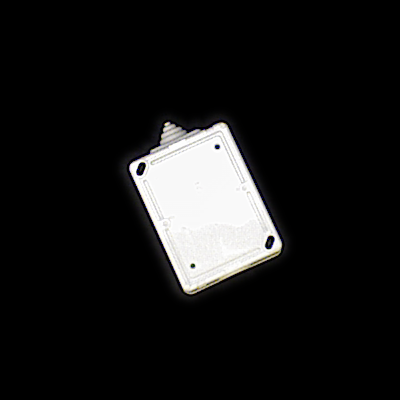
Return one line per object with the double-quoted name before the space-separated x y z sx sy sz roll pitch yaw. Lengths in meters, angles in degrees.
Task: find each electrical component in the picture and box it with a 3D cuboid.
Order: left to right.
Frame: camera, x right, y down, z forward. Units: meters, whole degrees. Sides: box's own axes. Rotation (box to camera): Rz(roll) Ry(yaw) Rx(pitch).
"electrical component" 0.000 0.000 0.627 0.062 0.096 0.061 -25 -6 -2
